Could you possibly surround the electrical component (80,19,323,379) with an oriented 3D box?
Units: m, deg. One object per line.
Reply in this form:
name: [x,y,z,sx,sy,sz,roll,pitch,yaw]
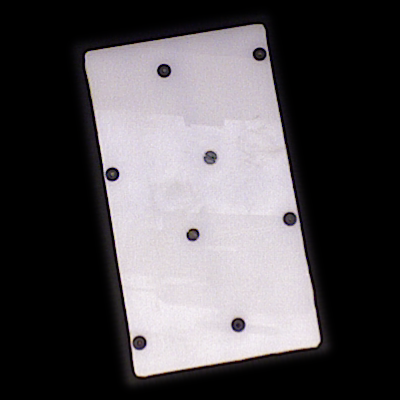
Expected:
electrical component: [0.000,0.000,0.626,0.105,0.187,0.060,-10,-7,-1]
